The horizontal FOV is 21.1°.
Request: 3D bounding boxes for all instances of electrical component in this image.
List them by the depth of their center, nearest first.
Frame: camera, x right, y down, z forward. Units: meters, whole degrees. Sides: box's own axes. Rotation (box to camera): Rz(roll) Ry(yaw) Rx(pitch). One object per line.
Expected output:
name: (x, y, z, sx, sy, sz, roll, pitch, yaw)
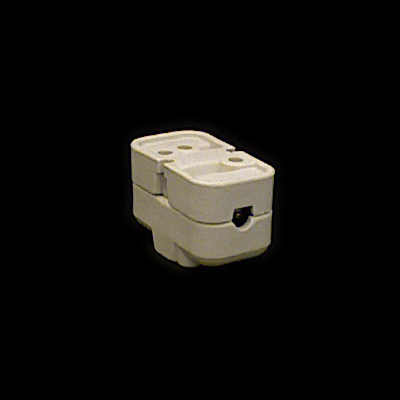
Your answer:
electrical component: (0.000, 0.000, 0.643, 0.054, 0.060, 0.093, -12, 26, -30)
